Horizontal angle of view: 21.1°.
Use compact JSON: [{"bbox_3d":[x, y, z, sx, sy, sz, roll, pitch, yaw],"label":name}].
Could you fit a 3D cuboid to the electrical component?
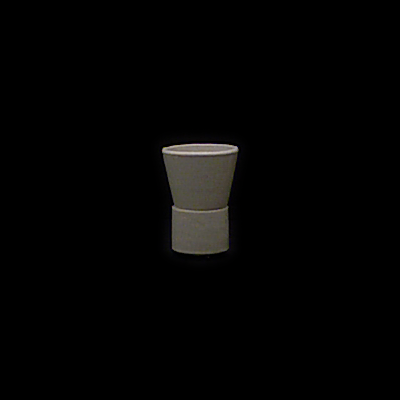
[{"bbox_3d":[0.000,0.000,0.642,0.044,0.066,0.044,0,12,0],"label":"electrical component"}]
